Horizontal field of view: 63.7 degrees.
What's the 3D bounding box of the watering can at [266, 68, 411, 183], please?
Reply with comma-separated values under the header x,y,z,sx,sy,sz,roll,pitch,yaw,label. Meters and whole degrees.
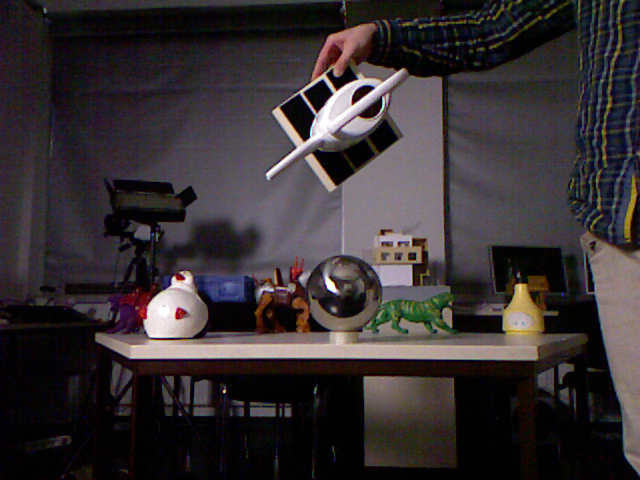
x,y,z,sx,sy,sz,roll,pitch,yaw,label
0.027,-0.218,0.999,0.350,0.104,0.224,-38,7,-8,watering can
